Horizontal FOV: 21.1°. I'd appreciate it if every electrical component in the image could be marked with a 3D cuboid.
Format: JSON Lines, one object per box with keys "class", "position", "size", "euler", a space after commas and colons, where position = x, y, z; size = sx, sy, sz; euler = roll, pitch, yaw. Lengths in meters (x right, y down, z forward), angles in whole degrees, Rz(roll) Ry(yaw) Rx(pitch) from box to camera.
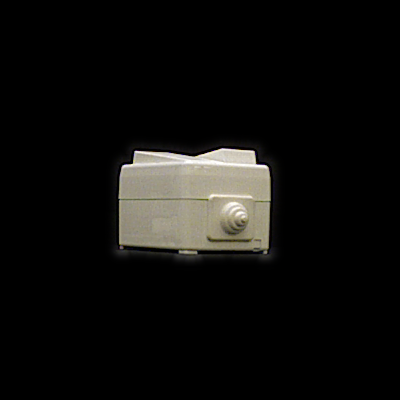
{"class": "electrical component", "position": [0.000, 0.000, 0.647], "size": [0.062, 0.061, 0.096], "euler": [1, 0, -33]}
